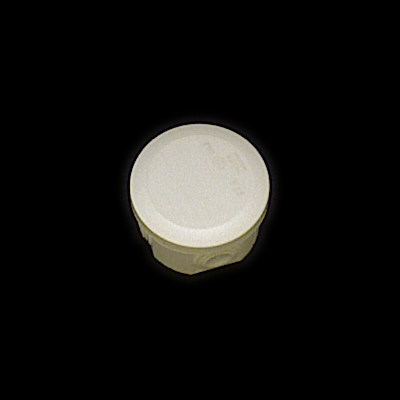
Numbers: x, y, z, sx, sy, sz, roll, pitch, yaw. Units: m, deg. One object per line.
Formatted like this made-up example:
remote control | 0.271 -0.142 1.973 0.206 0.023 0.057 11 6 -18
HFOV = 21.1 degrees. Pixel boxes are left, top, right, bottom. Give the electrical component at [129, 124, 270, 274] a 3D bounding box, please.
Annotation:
electrical component | 0.000 0.000 0.629 0.080 0.080 0.050 0 -27 0
